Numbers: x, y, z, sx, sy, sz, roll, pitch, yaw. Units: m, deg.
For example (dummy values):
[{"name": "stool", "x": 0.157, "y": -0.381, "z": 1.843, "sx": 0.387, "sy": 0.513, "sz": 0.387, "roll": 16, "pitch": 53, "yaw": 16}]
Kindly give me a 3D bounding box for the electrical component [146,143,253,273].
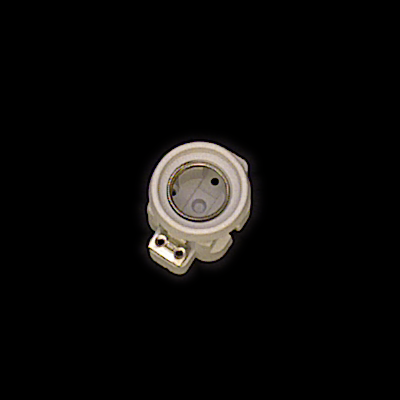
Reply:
[{"name": "electrical component", "x": 0.000, "y": 0.000, "z": 0.628, "sx": 0.058, "sy": 0.079, "sz": 0.056, "roll": 31, "pitch": -14, "yaw": 9}]
